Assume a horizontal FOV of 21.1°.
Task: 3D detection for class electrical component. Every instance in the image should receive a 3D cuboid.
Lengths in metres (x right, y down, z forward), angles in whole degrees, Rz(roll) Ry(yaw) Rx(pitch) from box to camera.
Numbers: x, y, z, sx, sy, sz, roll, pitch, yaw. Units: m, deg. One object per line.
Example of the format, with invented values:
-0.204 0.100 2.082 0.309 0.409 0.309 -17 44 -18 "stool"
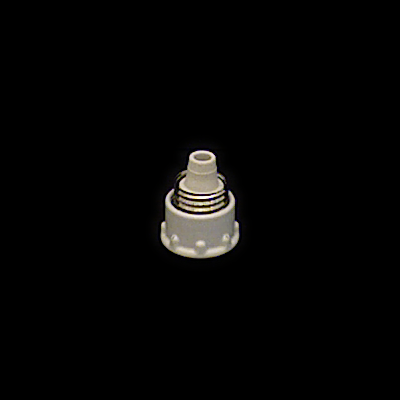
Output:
0.000 0.000 0.642 0.048 0.063 0.047 2 32 -1 "electrical component"
